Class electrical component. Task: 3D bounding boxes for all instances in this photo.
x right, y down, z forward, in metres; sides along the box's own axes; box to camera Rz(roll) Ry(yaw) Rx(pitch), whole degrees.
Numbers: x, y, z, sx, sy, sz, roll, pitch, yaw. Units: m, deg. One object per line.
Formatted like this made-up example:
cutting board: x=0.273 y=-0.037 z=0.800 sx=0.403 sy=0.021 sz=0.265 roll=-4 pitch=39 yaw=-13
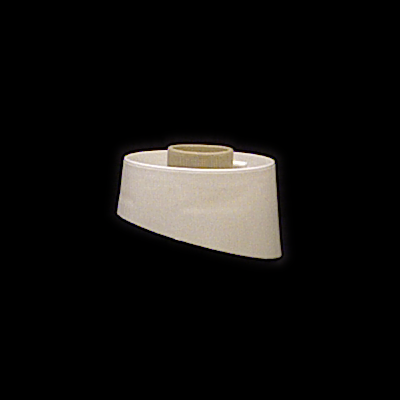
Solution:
electrical component: x=0.000 y=0.000 z=0.643 sx=0.099 sy=0.064 sz=0.098 roll=2 pitch=10 yaw=0
